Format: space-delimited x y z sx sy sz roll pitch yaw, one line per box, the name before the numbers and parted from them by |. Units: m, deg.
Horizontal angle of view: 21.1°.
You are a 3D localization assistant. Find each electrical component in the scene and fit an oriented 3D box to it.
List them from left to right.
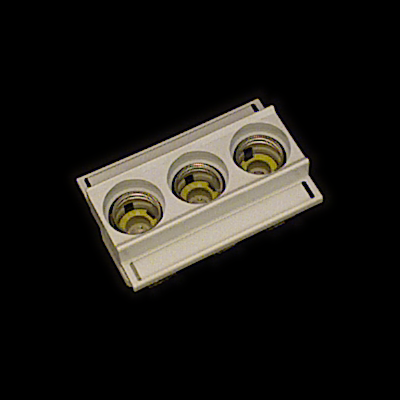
electrical component | 0.000 0.000 0.638 0.122 0.078 0.063 -25 -26 -12
